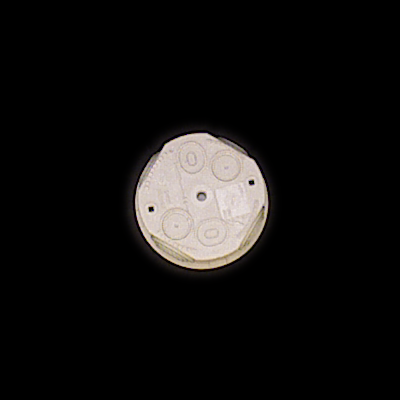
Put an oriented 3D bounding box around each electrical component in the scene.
[{"bbox_3d":[0.000,0.000,0.633,0.080,0.080,0.050,0,-7,0],"label":"electrical component"}]
